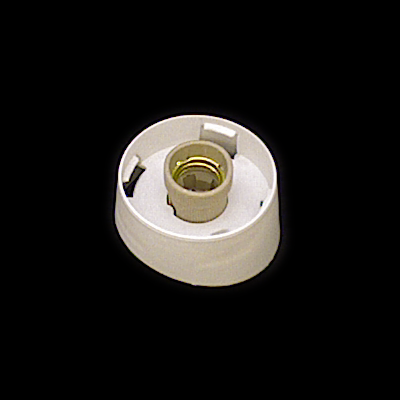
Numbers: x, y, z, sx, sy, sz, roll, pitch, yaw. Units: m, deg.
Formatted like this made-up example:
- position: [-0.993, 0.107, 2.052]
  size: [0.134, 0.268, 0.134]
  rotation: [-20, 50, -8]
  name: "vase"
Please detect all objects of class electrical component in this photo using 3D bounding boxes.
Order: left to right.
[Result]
- position: [0.000, 0.000, 0.626]
  size: [0.099, 0.098, 0.064]
  rotation: [0, -38, -1]
  name: "electrical component"
